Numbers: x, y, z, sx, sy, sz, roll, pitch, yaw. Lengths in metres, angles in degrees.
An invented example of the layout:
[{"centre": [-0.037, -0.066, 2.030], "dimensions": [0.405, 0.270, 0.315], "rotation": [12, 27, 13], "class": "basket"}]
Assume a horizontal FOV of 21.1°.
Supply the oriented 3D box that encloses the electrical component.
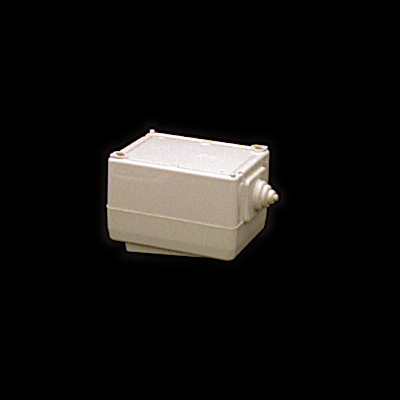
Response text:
[{"centre": [0.000, 0.000, 0.637], "dimensions": [0.096, 0.061, 0.061], "rotation": [10, 23, 19], "class": "electrical component"}]
